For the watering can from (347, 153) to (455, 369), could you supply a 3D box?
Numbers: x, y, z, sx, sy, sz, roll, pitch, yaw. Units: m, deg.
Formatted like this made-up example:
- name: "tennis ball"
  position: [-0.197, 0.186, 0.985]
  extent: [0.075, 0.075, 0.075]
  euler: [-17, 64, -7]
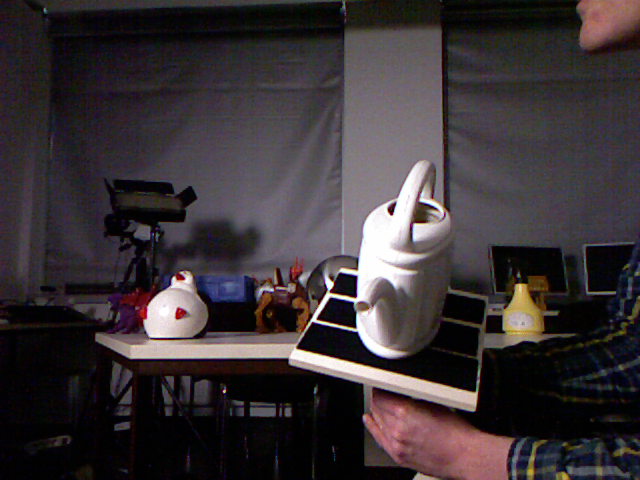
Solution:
- name: "watering can"
  position: [0.081, 0.045, 0.549]
  extent: [0.105, 0.221, 0.358]
  euler: [11, 34, 16]
